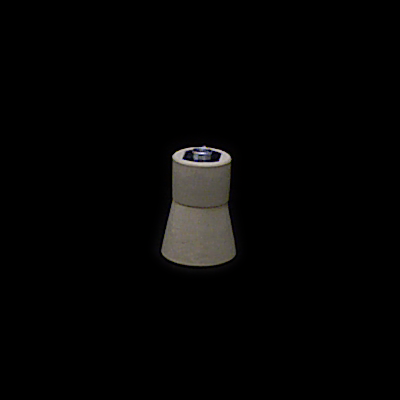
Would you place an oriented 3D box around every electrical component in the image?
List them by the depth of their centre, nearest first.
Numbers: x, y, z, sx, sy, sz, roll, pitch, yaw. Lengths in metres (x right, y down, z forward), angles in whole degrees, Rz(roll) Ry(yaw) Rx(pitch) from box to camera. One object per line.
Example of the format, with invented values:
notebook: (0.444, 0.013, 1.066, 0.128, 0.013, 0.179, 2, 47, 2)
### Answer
electrical component: (0.000, 0.000, 0.637, 0.044, 0.066, 0.044, 2, 21, -1)
